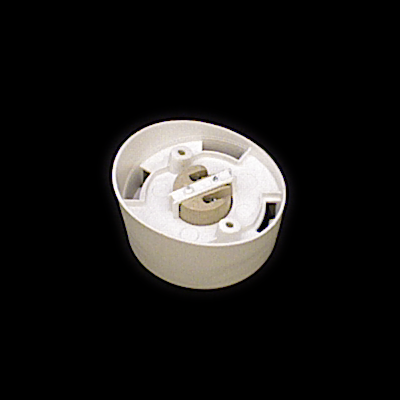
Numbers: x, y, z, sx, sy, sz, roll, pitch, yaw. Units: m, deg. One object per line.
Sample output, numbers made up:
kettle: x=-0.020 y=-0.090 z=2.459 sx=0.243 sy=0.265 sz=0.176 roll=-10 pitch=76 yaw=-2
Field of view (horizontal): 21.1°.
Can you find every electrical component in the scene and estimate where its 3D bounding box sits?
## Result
electrical component: x=0.000 y=0.000 z=0.625 sx=0.099 sy=0.098 sz=0.064 roll=0 pitch=-37 yaw=0
